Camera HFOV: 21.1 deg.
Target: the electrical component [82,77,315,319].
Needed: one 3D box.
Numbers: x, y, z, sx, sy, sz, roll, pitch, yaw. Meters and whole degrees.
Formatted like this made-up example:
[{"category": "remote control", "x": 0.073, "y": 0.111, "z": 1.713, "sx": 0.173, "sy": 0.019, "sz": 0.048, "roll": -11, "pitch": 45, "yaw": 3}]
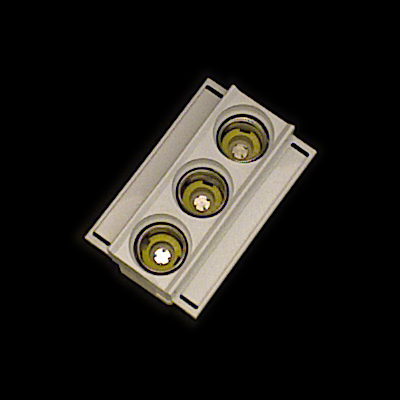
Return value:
[{"category": "electrical component", "x": 0.000, "y": 0.000, "z": 0.637, "sx": 0.078, "sy": 0.122, "sz": 0.063, "roll": 35, "pitch": -13, "yaw": 9}]
